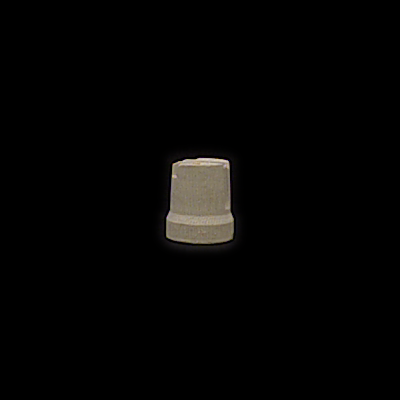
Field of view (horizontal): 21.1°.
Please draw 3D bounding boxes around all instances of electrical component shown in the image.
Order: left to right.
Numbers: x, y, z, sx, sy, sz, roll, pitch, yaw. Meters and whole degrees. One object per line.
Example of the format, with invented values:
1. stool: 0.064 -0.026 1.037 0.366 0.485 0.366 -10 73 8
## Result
1. electrical component: 0.000 0.000 0.647 0.040 0.046 0.040 2 11 0
